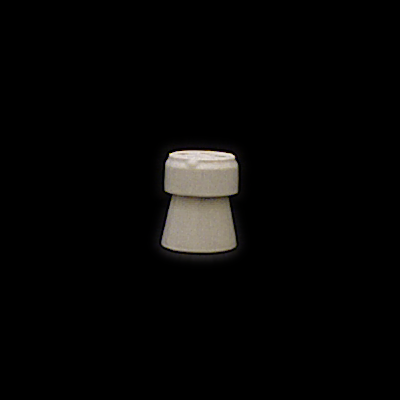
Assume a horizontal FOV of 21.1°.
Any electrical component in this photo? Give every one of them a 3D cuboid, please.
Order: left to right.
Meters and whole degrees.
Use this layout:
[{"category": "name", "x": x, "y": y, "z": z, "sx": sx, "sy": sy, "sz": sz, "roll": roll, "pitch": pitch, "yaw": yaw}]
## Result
[{"category": "electrical component", "x": 0.000, "y": 0.000, "z": 0.644, "sx": 0.045, "sy": 0.055, "sz": 0.044, "roll": 1, "pitch": 12, "yaw": 0}]
